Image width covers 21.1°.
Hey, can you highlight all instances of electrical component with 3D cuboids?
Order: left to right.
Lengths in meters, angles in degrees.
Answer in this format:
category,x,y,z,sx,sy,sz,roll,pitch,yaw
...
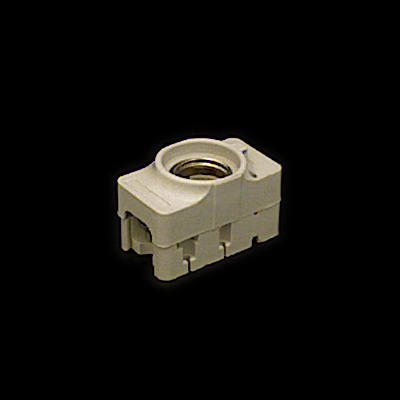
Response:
category,x,y,z,sx,sy,sz,roll,pitch,yaw
electrical component,0.000,0.000,0.642,0.090,0.056,0.049,-22,39,-32
